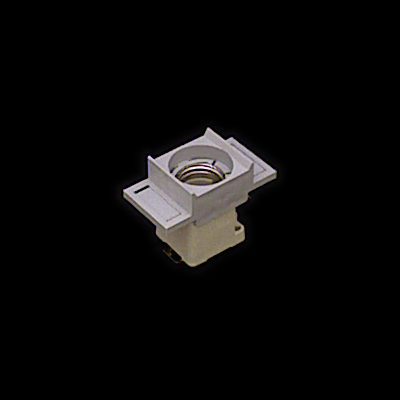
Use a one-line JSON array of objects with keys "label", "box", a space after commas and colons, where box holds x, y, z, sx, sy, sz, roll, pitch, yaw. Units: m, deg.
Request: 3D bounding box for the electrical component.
[{"label": "electrical component", "box": [0.000, 0.000, 0.631, 0.080, 0.064, 0.042, -27, 48, -27]}]
